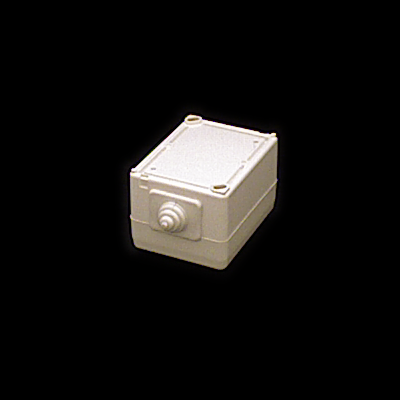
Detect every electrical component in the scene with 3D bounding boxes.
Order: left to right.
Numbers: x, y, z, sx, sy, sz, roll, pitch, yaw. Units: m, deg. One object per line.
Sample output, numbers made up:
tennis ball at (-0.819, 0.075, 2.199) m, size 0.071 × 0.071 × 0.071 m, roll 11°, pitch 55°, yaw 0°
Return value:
electrical component at (0.000, 0.000, 0.634) m, size 0.061 × 0.061 × 0.095 m, roll 14°, pitch 35°, yaw 21°
